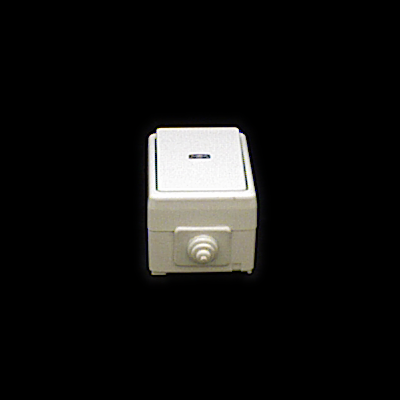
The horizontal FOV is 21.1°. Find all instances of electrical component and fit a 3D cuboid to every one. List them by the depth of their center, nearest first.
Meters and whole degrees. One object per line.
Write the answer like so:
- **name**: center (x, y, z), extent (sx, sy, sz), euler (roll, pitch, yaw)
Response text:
- **electrical component**: center (0.000, 0.000, 0.632), extent (0.062, 0.061, 0.095), euler (-1, 31, -3)
